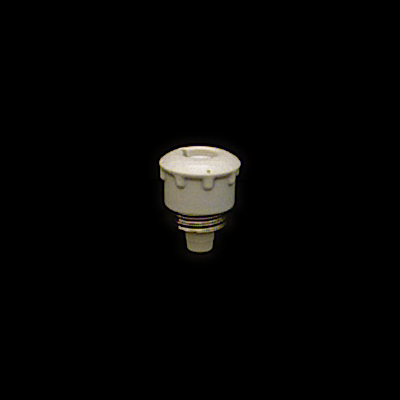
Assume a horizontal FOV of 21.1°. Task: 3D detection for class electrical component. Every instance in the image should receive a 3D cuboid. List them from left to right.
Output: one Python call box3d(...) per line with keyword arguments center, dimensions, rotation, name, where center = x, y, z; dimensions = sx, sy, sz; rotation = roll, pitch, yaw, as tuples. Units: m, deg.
box3d(center=(0.000, 0.000, 0.644), dimensions=(0.048, 0.062, 0.047), rotation=(1, 21, 0), name="electrical component")
